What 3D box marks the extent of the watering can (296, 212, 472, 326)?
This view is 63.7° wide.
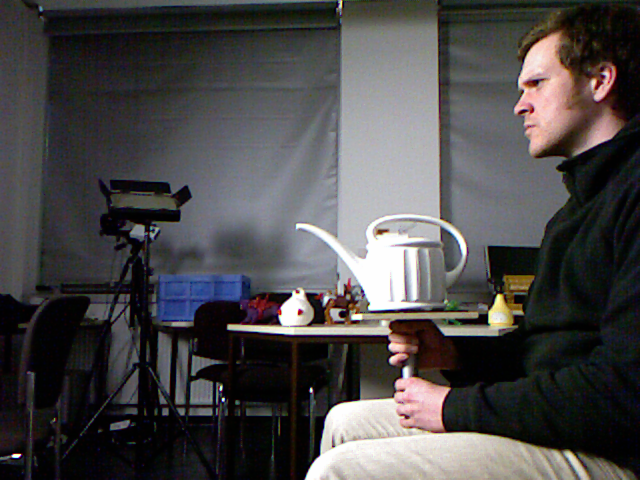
[{"bbox_3d":[0.126,0.057,1.014,0.348,0.225,0.103,0,-5,-1],"label":"watering can"}]
